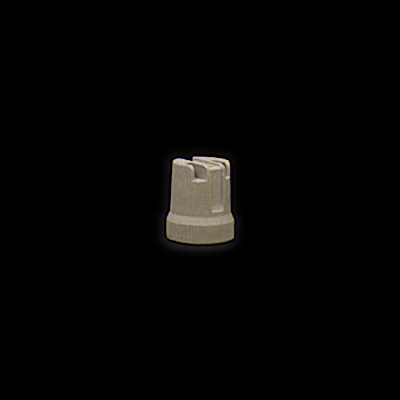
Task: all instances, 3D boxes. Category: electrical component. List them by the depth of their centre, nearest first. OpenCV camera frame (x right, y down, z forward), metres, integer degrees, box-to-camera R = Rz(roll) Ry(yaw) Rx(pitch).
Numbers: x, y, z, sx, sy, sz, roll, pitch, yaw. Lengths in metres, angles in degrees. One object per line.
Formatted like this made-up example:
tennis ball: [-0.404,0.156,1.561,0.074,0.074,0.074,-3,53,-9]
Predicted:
electrical component: [0.000,0.000,0.644,0.040,0.046,0.040,1,11,0]
